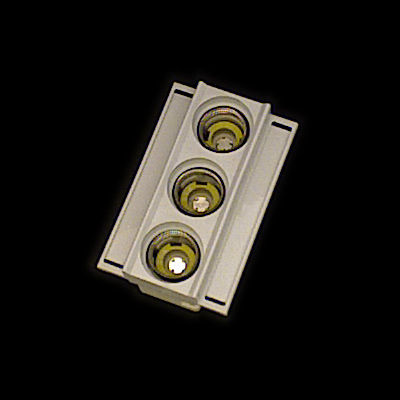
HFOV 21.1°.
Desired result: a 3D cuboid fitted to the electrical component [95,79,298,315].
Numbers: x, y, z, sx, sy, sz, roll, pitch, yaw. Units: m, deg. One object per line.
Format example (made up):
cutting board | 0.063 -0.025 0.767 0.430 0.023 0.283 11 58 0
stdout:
electrical component | 0.000 0.000 0.637 0.078 0.122 0.063 20 -15 8
